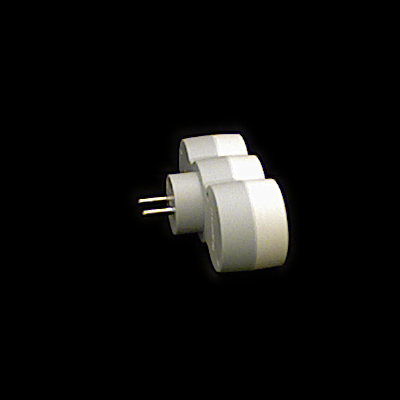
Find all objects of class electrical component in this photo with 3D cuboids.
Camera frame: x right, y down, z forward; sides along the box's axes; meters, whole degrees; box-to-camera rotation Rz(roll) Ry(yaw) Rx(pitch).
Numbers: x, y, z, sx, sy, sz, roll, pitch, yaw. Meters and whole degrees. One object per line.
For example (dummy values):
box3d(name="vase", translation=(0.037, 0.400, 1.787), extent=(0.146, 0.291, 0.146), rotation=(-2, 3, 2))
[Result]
box3d(name="electrical component", translation=(0.000, 0.000, 0.648), extent=(0.074, 0.053, 0.136), rotation=(-5, 22, -11))
